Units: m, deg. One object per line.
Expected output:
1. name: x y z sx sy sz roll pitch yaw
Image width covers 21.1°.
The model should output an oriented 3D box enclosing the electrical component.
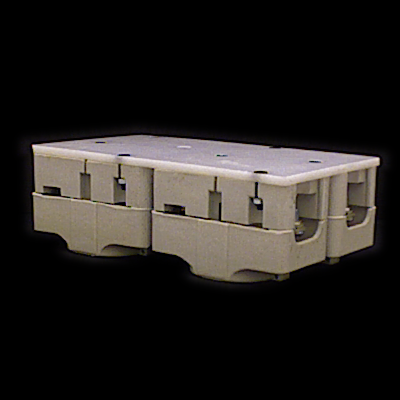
1. electrical component: 0.000 0.000 0.644 0.185 0.060 0.105 8 12 36
